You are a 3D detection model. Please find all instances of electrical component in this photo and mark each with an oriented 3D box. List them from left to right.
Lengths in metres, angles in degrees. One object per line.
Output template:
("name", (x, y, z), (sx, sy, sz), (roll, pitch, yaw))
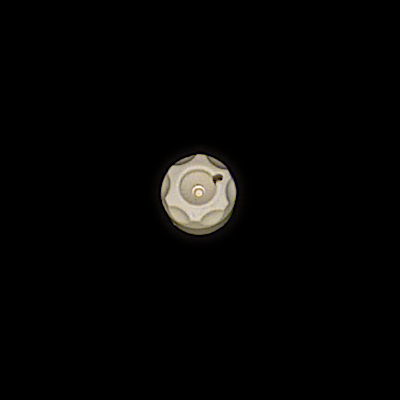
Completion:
("electrical component", (0.000, 0.000, 0.634), (0.043, 0.043, 0.061), (0, -15, 1))
